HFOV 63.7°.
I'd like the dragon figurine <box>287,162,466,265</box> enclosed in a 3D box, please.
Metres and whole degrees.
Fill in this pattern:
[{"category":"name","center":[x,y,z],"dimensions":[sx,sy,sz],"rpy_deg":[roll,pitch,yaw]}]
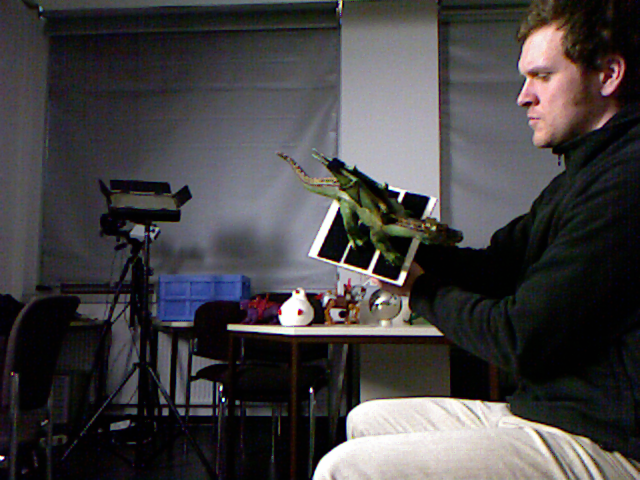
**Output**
[{"category":"dragon figurine","center":[0.071,-0.084,0.946],"dimensions":[0.415,0.124,0.240],"rpy_deg":[30,-13,20]}]
